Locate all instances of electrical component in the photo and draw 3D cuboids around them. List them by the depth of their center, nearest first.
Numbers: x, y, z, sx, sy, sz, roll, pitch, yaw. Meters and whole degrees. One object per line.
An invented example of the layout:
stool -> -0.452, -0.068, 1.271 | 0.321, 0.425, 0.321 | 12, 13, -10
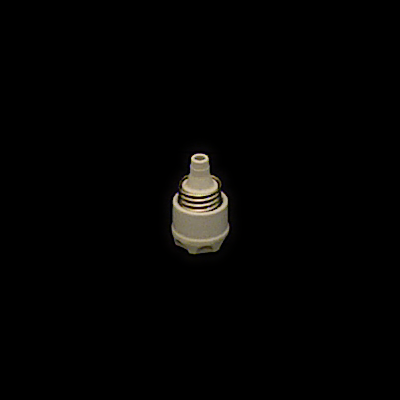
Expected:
electrical component -> 0.000, 0.000, 0.647 | 0.035, 0.062, 0.034 | 0, 33, 1
